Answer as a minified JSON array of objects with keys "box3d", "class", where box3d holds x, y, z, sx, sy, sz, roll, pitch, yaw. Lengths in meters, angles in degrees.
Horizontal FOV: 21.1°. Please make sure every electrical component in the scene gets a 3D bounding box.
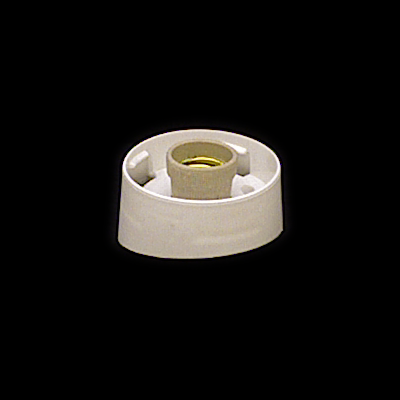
[{"box3d":[0.000,0.000,0.633,0.099,0.065,0.097,1,31,0],"class":"electrical component"}]
